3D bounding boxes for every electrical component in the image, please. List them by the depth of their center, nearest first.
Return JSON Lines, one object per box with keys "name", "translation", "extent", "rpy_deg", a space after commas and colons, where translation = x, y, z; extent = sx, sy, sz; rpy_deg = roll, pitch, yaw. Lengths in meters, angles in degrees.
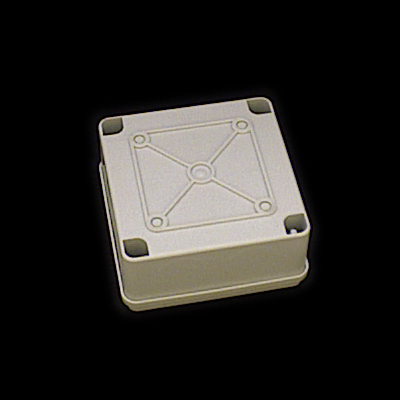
{"name": "electrical component", "translation": [0.000, 0.000, 0.629], "extent": [0.109, 0.108, 0.056], "rpy_deg": [-8, -36, -7]}
